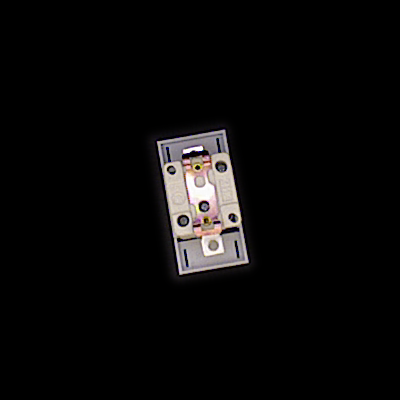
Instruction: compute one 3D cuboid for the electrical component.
[{"bbox_3d":[0.000,0.000,0.626,0.042,0.081,0.063,-10,-6,0],"label":"electrical component"}]
